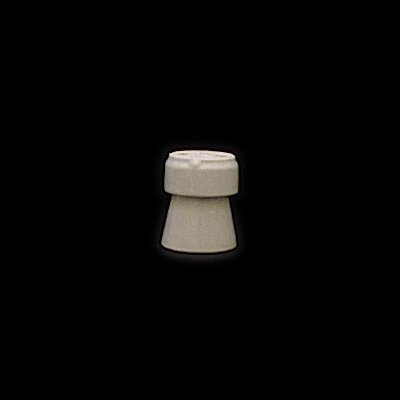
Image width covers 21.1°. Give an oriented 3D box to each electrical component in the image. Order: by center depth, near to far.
[{"bbox_3d":[0.000,0.000,0.644,0.045,0.055,0.044,1,12,0],"label":"electrical component"}]
